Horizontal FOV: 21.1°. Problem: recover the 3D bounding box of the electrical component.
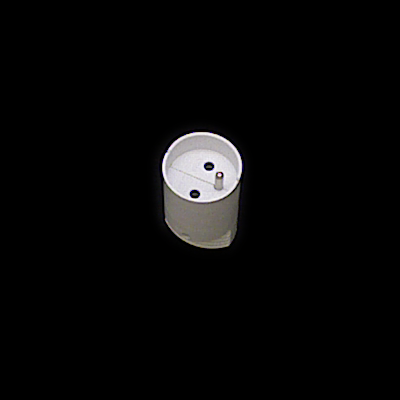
[{"bbox_3d":[0.000,0.000,0.617,0.043,0.043,0.081,0,-27,0],"label":"electrical component"}]
